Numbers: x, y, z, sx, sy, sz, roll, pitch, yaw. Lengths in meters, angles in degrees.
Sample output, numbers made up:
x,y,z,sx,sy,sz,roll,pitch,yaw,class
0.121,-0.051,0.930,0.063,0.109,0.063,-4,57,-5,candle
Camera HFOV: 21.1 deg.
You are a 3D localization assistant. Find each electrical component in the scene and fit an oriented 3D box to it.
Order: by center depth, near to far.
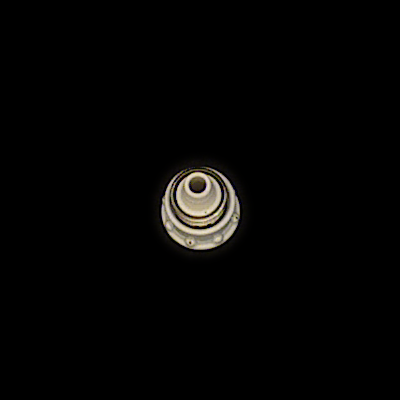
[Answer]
x,y,z,sx,sy,sz,roll,pitch,yaw,class
0.000,0.000,0.633,0.048,0.048,0.061,0,-17,1,electrical component
